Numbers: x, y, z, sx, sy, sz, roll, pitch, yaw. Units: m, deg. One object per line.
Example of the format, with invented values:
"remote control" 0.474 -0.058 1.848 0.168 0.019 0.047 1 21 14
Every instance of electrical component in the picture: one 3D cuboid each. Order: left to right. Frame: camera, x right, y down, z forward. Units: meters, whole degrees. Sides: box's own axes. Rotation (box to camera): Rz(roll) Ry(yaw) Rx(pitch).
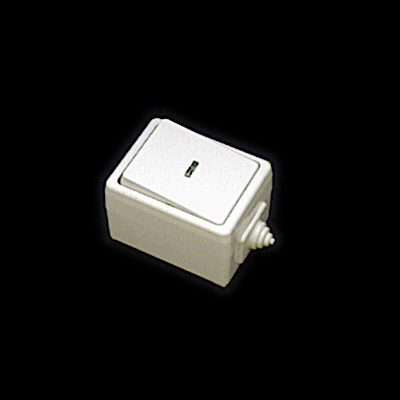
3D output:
"electrical component" 0.000 0.000 0.627 0.096 0.061 0.061 22 -35 16
